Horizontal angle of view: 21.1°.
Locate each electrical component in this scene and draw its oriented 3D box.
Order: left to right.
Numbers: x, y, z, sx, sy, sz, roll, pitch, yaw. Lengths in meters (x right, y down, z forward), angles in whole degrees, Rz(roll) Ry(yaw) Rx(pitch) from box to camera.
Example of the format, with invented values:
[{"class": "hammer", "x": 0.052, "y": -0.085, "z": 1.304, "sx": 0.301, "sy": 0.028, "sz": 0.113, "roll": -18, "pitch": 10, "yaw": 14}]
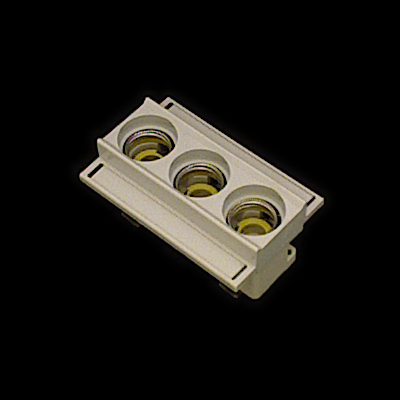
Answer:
[{"class": "electrical component", "x": 0.000, "y": 0.000, "z": 0.638, "sx": 0.121, "sy": 0.078, "sz": 0.063, "roll": 35, "pitch": -28, "yaw": 23}]
